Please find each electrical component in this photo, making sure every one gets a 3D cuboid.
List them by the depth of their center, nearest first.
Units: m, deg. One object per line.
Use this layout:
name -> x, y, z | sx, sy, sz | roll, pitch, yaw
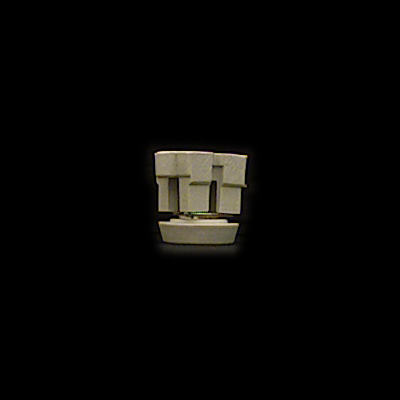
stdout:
electrical component -> 0.000, 0.000, 0.655 | 0.067, 0.055, 0.048 | 1, 0, -37
